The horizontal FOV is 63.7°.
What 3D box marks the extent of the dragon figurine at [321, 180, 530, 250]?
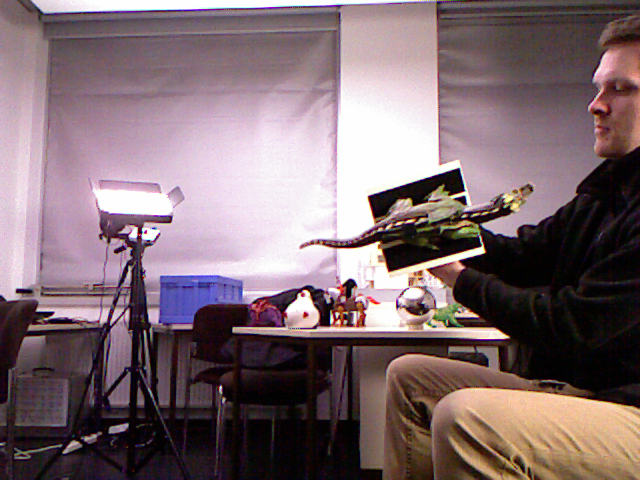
[{"bbox_3d":[0.188,-0.031,0.975,0.411,0.123,0.244,-17,-2,7],"label":"dragon figurine"}]
